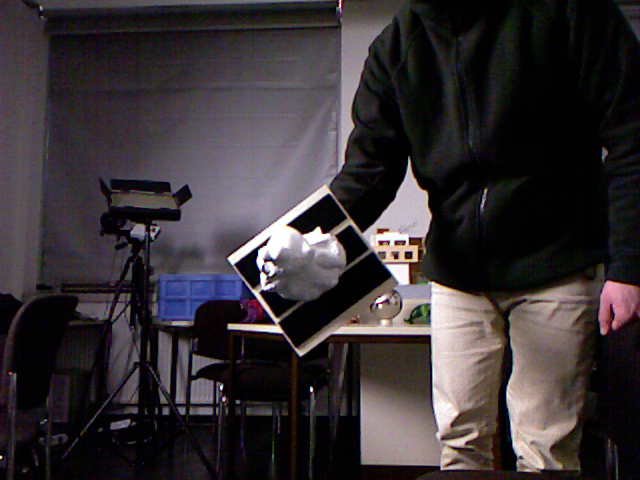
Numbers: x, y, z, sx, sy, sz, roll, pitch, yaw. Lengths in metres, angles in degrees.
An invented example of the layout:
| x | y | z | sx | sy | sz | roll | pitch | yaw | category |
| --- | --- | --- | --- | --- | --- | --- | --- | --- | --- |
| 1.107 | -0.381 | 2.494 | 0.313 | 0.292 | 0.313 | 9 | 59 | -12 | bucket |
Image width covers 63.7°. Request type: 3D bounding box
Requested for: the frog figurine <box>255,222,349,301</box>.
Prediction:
| x | y | z | sx | sy | sz | roll | pitch | yaw | category |
| --- | --- | --- | --- | --- | --- | --- | --- | --- | --- |
| -0.027 | 0.034 | 0.767 | 0.137 | 0.123 | 0.160 | -15 | -1 | 6 | frog figurine |
